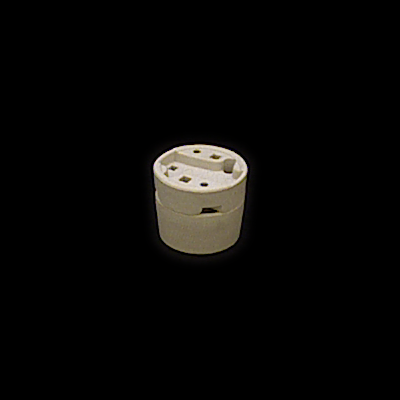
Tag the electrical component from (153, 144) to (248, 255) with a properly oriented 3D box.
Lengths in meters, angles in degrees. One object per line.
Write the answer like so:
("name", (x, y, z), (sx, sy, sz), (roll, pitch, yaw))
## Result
("electrical component", (0.000, 0.000, 0.639), (0.055, 0.047, 0.055), (1, 32, 0))
